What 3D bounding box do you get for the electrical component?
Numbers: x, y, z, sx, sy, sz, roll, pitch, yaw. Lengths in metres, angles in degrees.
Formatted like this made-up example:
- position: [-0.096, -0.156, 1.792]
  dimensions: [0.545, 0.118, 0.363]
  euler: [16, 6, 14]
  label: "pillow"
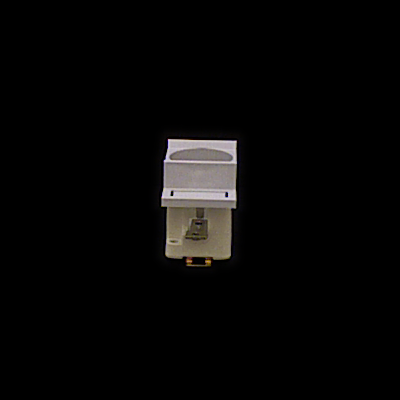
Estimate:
- position: [0.000, 0.000, 0.635]
  dimensions: [0.042, 0.064, 0.080]
  euler: [3, 20, 1]
  label: "electrical component"
